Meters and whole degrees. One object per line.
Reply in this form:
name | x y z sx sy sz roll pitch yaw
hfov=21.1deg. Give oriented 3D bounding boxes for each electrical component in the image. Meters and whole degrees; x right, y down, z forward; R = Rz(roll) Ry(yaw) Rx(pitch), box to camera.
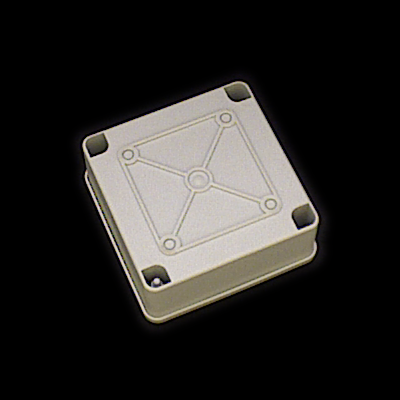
electrical component | 0.000 0.000 0.626 0.109 0.109 0.056 -21 -25 -10
